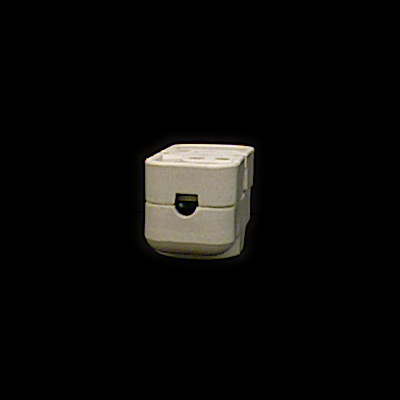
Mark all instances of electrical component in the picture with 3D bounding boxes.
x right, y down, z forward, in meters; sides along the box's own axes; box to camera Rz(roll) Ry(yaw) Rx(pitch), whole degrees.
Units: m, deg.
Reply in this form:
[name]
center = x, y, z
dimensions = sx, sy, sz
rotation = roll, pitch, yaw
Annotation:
[electrical component]
center = 0.000, 0.000, 0.652
dimensions = 0.053, 0.060, 0.094
rotation = 3, 11, 10
